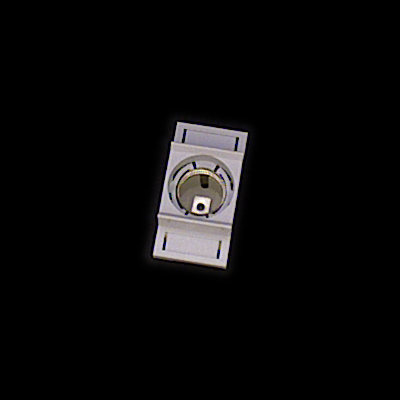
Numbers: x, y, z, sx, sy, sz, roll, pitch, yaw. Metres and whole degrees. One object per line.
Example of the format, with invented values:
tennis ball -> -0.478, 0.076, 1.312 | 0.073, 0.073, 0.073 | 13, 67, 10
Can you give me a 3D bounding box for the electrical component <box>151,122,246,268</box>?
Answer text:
electrical component -> 0.000, 0.000, 0.623 | 0.042, 0.081, 0.063 | 10, -17, 2
